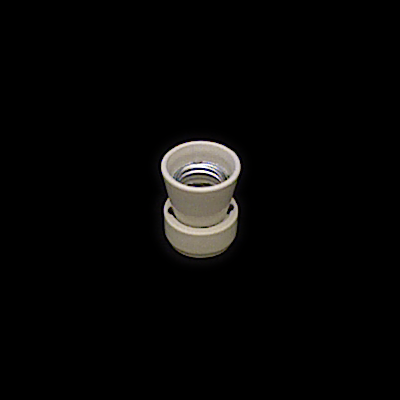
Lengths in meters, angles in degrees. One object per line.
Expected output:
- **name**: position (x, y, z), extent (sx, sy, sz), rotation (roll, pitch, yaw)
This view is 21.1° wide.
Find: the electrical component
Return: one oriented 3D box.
- **electrical component**: position (0.000, 0.000, 0.632), extent (0.045, 0.055, 0.044), rotation (1, 41, 0)
